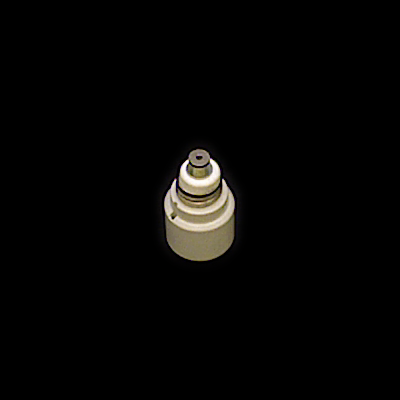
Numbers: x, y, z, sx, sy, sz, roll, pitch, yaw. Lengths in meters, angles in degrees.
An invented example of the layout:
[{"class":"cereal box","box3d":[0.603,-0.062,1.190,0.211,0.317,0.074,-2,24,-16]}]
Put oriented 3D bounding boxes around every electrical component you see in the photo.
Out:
[{"class":"electrical component","box3d":[0.000,0.000,0.621,0.040,0.040,0.079,0,-37,0]}]
